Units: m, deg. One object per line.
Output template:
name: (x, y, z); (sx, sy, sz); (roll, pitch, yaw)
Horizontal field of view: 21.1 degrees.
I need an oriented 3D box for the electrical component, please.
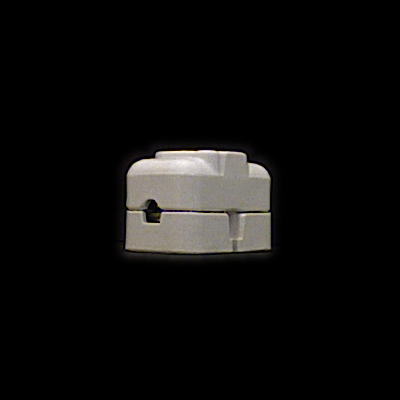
electrical component: (0.000, 0.000, 0.656); (0.053, 0.059, 0.096); (2, 1, 36)
